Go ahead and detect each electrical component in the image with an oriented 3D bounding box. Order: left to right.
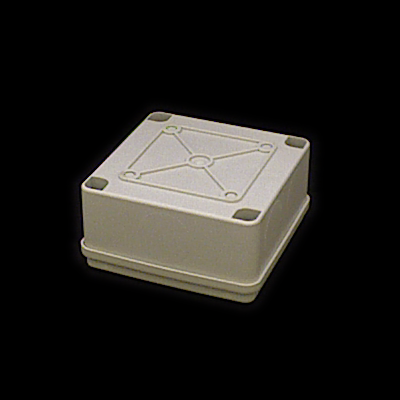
[{"bbox_3d":[0.000,0.000,0.633,0.108,0.057,0.108,12,33,18],"label":"electrical component"}]
